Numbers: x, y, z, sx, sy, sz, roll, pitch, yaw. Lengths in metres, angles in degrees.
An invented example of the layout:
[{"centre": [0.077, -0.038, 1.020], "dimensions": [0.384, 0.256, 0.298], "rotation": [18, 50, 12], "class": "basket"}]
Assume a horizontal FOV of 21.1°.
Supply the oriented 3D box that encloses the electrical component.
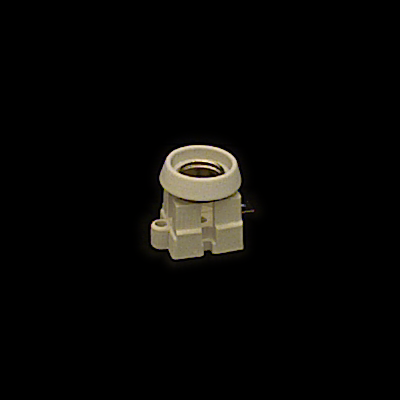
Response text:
[{"centre": [0.000, 0.000, 0.644], "dimensions": [0.067, 0.056, 0.047], "rotation": [-9, 35, -15], "class": "electrical component"}]
